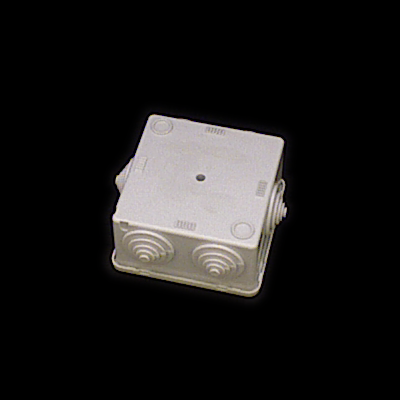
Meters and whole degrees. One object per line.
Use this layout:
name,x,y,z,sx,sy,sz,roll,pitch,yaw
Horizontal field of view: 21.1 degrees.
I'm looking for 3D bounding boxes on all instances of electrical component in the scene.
electrical component,0.000,0.000,0.632,0.099,0.099,0.049,11,-37,8
